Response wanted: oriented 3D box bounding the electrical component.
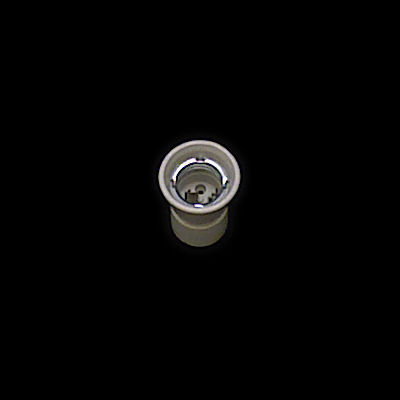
[{"bbox_3d":[0.000,0.000,0.624,0.044,0.044,0.065,0,-26,-1],"label":"electrical component"}]
